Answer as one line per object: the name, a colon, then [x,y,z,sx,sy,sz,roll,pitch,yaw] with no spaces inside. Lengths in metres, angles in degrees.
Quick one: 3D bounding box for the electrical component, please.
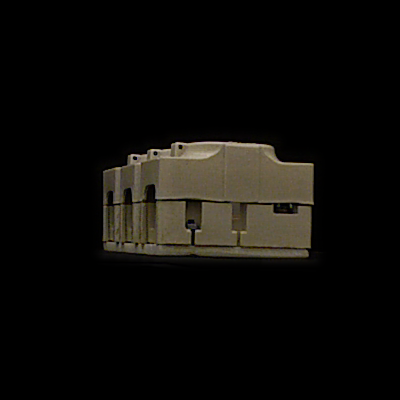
electrical component: [0.000,0.000,0.655,0.090,0.062,0.150,1,-1,-18]
